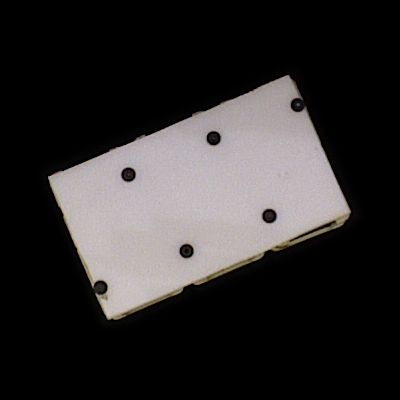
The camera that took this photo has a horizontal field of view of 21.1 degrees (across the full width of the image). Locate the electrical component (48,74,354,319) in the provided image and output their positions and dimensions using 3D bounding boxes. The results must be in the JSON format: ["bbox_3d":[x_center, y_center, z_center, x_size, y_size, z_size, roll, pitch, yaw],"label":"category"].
[{"bbox_3d":[0.000,0.000,0.631,0.150,0.089,0.061,-23,-5,-3],"label":"electrical component"}]
